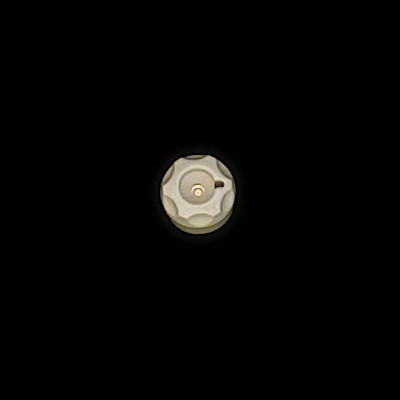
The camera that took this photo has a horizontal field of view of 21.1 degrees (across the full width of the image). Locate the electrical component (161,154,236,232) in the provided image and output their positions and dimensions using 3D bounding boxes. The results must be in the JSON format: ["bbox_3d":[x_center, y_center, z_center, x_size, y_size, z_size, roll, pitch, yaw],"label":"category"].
[{"bbox_3d":[0.000,0.000,0.634,0.043,0.043,0.061,0,-15,1],"label":"electrical component"}]
